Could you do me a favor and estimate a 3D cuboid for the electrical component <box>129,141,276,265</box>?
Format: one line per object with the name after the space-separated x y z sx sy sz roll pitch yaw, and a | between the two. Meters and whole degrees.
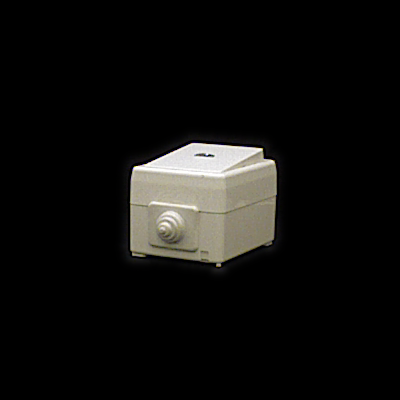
0.000 0.000 0.642 0.061 0.061 0.096 6 11 26 | electrical component
